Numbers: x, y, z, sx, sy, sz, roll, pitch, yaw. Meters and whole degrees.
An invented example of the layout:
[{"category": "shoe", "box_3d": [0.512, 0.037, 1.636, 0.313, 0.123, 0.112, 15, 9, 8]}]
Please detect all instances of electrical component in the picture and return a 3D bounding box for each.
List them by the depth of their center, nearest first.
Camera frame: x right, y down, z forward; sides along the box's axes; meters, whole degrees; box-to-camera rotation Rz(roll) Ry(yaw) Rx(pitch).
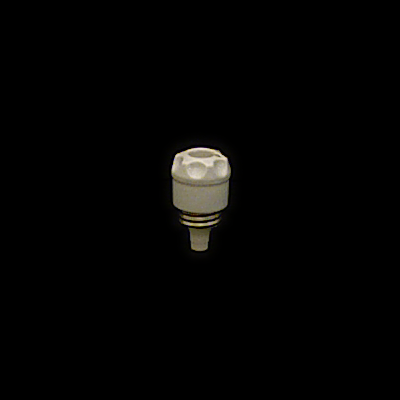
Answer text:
[{"category": "electrical component", "box_3d": [0.000, 0.000, 0.644, 0.035, 0.062, 0.034, 1, 22, 0]}]
